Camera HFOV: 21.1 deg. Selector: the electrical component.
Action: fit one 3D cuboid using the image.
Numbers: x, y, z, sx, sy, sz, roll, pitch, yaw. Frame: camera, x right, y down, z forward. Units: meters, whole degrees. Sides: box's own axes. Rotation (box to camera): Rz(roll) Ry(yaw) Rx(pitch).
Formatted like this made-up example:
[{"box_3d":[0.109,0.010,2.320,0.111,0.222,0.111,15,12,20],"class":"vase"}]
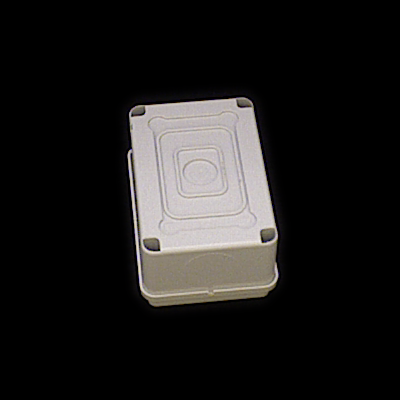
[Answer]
[{"box_3d":[0.000,0.000,0.629,0.078,0.112,0.057,-5,-37,-4],"class":"electrical component"}]
